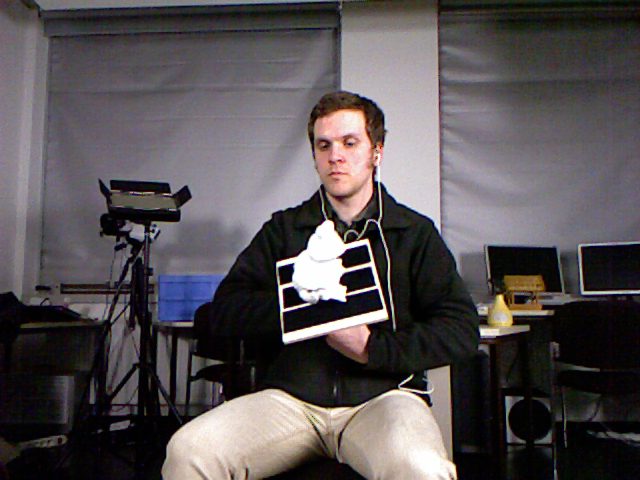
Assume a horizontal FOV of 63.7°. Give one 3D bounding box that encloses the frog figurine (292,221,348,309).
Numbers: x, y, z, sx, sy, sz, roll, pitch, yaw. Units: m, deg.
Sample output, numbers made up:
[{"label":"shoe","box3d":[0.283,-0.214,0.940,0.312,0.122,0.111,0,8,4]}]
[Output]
[{"label":"frog figurine","box3d":[-0.005,0.042,0.975,0.123,0.141,0.156,5,-38,22]}]
